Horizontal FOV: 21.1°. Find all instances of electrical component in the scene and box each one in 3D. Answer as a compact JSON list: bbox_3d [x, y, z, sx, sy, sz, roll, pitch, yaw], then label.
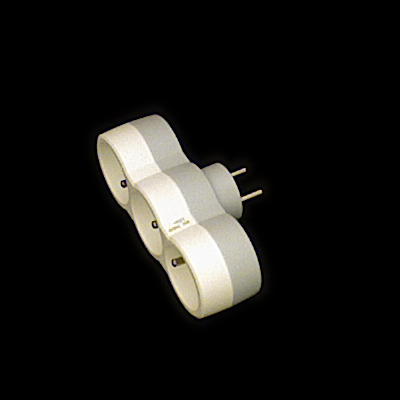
[{"bbox_3d":[0.000,0.000,0.639,0.074,0.137,0.052,-23,-33,-19],"label":"electrical component"}]
